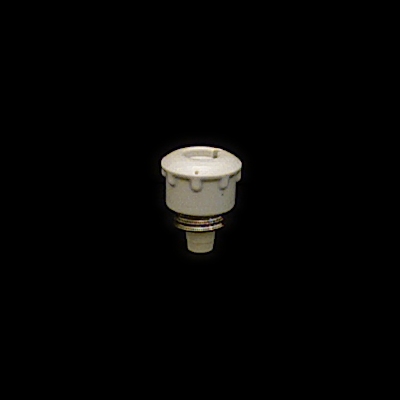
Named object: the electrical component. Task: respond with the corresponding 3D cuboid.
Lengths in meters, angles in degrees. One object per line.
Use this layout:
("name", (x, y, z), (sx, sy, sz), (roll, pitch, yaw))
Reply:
("electrical component", (0.000, 0.000, 0.648), (0.048, 0.063, 0.047), (1, 22, 0))
